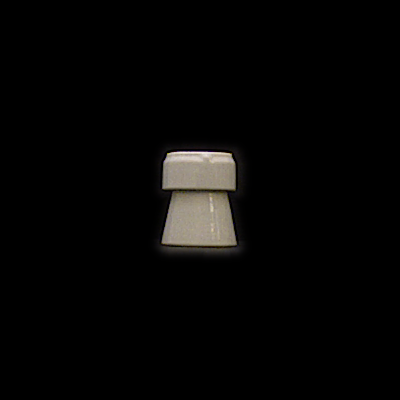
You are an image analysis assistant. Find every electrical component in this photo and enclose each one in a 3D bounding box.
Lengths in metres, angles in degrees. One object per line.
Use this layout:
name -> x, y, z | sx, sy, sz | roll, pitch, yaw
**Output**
electrical component -> 0.000, 0.000, 0.649 | 0.045, 0.055, 0.045 | 1, 0, 0
